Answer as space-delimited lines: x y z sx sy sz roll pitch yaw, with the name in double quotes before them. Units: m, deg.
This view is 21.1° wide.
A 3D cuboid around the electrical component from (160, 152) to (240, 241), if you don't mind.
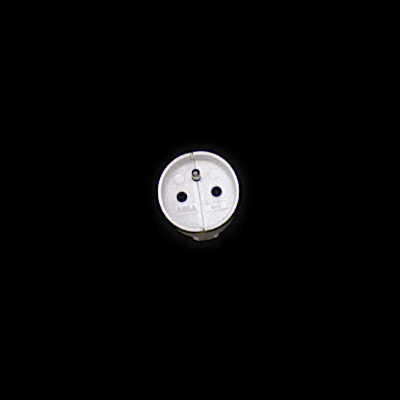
"electrical component" 0.000 0.000 0.616 0.043 0.043 0.080 0 -7 0
